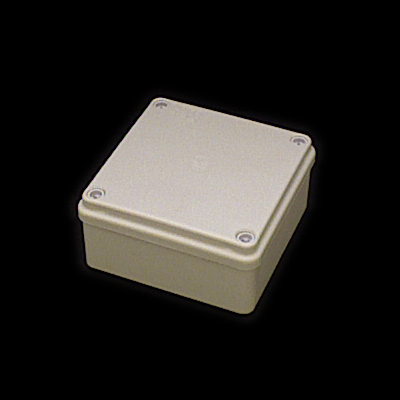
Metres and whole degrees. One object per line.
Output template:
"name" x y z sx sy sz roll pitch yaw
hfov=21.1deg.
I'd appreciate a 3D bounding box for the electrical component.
"electrical component" 0.000 0.000 0.631 0.108 0.056 0.108 16 45 16
